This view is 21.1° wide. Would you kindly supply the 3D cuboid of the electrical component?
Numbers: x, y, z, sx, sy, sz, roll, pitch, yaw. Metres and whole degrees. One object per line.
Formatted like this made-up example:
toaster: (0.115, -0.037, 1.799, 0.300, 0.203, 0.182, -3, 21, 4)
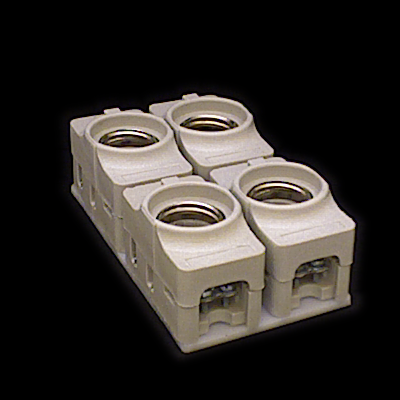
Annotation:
electrical component: (0.000, 0.000, 0.633, 0.105, 0.061, 0.183, -13, 34, -21)
